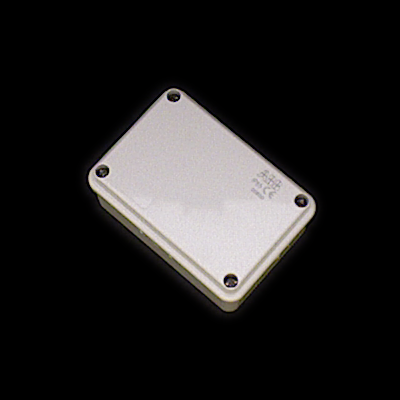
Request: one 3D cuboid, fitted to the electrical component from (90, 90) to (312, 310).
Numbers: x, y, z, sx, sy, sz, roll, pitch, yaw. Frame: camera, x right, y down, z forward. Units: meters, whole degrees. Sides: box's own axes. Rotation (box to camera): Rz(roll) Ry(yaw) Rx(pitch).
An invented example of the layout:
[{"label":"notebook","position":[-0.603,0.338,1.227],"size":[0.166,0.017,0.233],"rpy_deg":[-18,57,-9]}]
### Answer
[{"label":"electrical component","position":[0.000,0.000,0.627],"size":[0.113,0.078,0.057],"rpy_deg":[40,-13,11]}]
